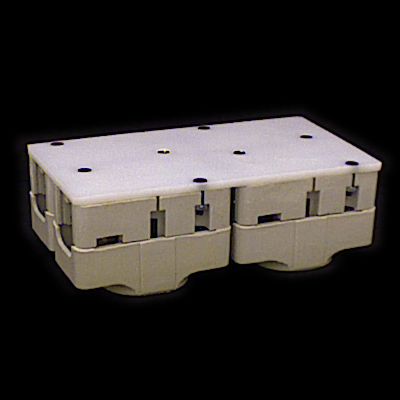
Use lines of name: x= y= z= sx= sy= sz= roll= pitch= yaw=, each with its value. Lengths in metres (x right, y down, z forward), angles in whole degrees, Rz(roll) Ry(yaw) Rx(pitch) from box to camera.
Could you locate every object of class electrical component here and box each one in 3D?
electrical component: x=0.000 y=0.000 z=0.638 sx=0.186 sy=0.061 sz=0.104 roll=-7 pitch=22 yaw=-22
